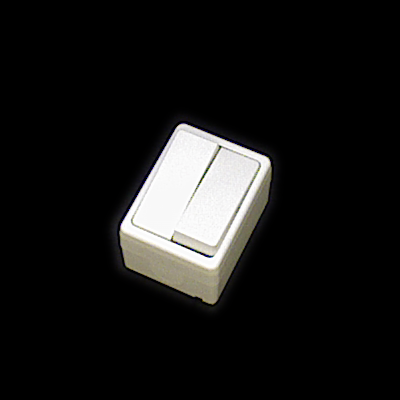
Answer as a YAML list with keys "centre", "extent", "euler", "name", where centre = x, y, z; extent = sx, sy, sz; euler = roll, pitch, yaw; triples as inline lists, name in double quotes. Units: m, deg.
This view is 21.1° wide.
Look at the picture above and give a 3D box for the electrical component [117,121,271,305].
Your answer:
- centre: [0.000, 0.000, 0.628]
  extent: [0.061, 0.096, 0.061]
  euler: [23, -25, 12]
  name: "electrical component"
